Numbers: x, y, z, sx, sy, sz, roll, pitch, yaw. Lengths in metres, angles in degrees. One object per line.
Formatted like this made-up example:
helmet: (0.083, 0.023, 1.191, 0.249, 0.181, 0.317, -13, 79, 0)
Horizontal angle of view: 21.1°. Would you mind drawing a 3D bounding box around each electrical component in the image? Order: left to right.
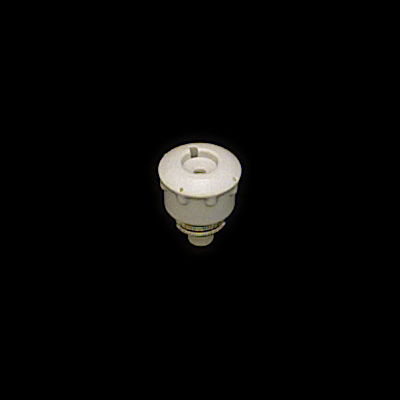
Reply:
electrical component: (0.000, 0.000, 0.637, 0.048, 0.062, 0.047, 1, 43, 0)
